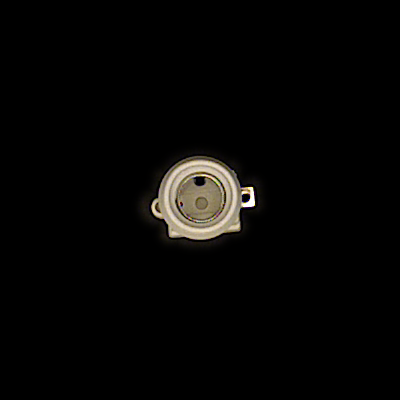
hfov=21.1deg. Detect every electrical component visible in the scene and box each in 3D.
[{"bbox_3d":[0.000,0.000,0.639,0.066,0.048,0.055,-7,-4,0],"label":"electrical component"}]
